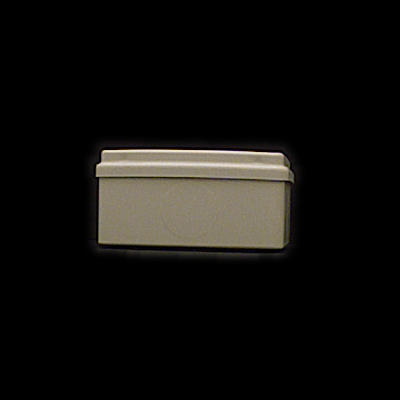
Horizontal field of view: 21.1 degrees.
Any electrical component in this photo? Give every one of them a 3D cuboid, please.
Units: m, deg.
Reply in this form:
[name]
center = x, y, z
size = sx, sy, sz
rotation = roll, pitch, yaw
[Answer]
[electrical component]
center = 0.000, 0.000, 0.648
size = 0.109, 0.056, 0.108
rotation = 1, 1, 6
